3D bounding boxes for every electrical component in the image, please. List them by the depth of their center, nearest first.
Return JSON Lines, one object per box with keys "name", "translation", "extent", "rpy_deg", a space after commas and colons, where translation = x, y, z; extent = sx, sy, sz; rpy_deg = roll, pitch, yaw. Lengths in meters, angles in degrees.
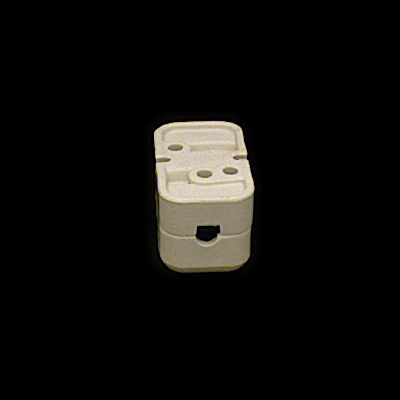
{"name": "electrical component", "translation": [0.000, 0.000, 0.643], "extent": [0.054, 0.060, 0.093], "rpy_deg": [-2, 32, -4]}
